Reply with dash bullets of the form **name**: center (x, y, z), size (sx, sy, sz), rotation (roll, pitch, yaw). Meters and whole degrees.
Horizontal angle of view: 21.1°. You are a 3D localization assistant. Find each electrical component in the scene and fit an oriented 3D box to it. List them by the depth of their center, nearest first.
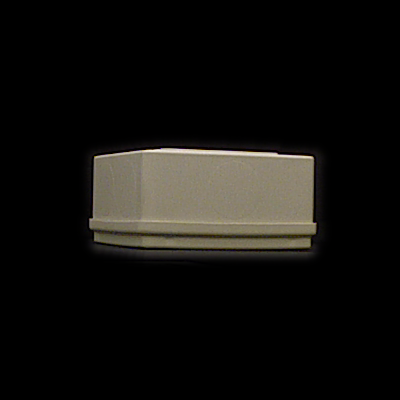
- **electrical component**: center (0.000, 0.000, 0.646), size (0.109, 0.056, 0.108), rotation (1, 0, -22)
